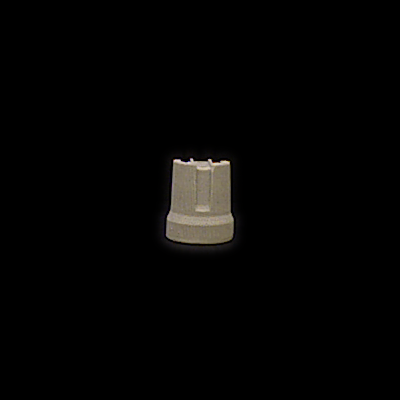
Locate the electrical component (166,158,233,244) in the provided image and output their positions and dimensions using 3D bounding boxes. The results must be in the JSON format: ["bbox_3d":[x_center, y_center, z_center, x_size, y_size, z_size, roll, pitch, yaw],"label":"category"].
[{"bbox_3d":[0.000,0.000,0.647,0.040,0.046,0.040,2,12,0],"label":"electrical component"}]
